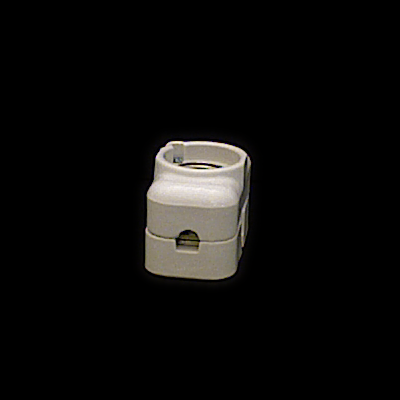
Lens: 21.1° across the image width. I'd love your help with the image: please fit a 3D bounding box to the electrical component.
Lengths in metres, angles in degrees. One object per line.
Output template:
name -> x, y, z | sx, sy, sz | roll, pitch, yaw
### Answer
electrical component -> 0.000, 0.000, 0.646 | 0.053, 0.060, 0.094 | 4, 21, 6
